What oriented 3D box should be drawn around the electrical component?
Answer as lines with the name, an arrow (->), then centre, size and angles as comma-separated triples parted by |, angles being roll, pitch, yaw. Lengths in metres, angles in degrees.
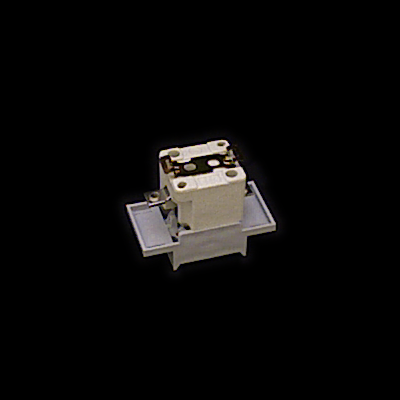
electrical component -> 0.000, 0.000, 0.630 | 0.081, 0.064, 0.041 | -12, 43, -13
